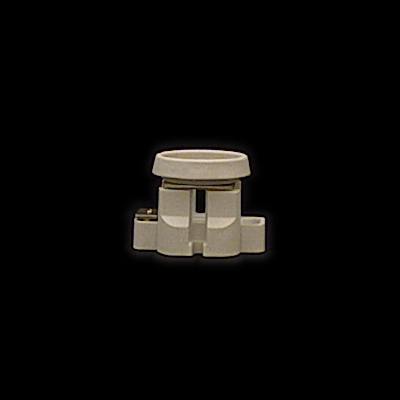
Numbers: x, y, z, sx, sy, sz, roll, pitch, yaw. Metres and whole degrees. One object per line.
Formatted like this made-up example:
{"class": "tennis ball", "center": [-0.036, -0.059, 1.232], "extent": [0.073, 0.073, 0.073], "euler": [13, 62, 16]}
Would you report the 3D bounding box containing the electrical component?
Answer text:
{"class": "electrical component", "center": [0.000, 0.000, 0.643], "extent": [0.078, 0.057, 0.057], "euler": [2, 11, 2]}
